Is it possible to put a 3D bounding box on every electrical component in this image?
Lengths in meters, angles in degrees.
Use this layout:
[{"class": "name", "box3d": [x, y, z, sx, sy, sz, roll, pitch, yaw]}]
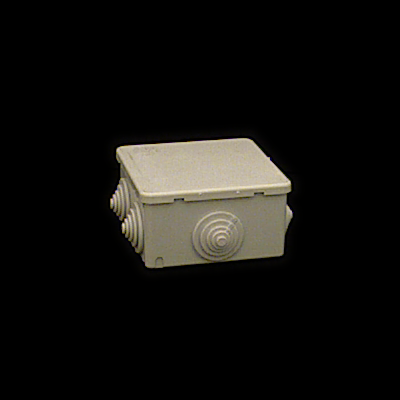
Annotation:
[{"class": "electrical component", "box3d": [0.000, 0.000, 0.648, 0.100, 0.049, 0.098, -4, 22, -14]}]
